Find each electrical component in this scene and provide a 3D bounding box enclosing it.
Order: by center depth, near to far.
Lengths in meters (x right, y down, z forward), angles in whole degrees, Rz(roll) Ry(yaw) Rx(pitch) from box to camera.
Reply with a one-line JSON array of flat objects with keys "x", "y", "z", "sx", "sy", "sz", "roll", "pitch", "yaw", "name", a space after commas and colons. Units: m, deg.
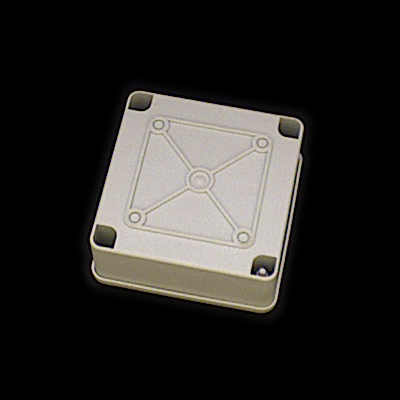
[{"x": 0.000, "y": 0.000, "z": 0.627, "sx": 0.109, "sy": 0.109, "sz": 0.056, "roll": 10, "pitch": -26, "yaw": 5, "name": "electrical component"}]
